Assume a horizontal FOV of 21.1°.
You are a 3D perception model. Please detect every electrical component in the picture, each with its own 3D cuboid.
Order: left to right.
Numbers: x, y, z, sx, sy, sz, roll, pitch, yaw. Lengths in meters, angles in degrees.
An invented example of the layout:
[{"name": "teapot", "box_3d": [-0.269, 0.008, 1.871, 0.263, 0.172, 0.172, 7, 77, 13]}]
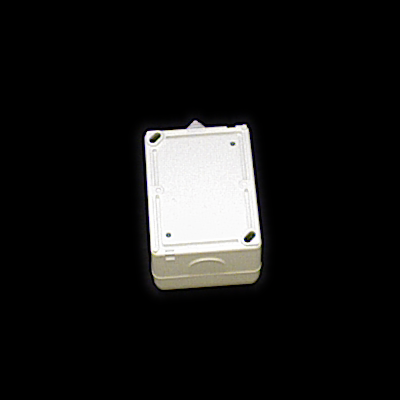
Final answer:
[{"name": "electrical component", "box_3d": [0.000, 0.000, 0.629, 0.062, 0.096, 0.061, -4, -27, -1]}]
